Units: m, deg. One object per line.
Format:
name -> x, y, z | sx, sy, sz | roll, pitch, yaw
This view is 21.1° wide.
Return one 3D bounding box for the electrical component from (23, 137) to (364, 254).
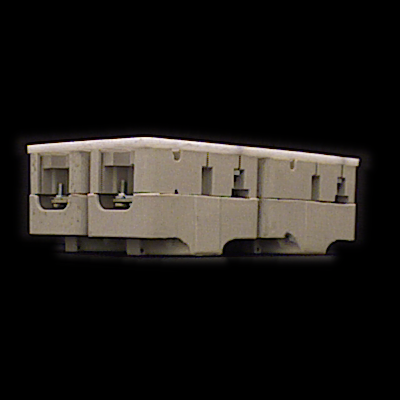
electrical component -> 0.000, 0.000, 0.649 | 0.105, 0.060, 0.187 | 1, -1, 45
